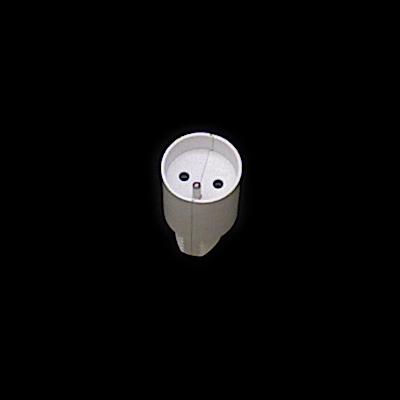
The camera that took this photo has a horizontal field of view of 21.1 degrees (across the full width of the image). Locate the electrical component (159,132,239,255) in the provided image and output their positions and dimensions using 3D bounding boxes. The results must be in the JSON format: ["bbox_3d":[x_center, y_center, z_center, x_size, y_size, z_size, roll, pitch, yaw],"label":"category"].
[{"bbox_3d":[0.000,0.000,0.615,0.043,0.043,0.081,0,-27,1],"label":"electrical component"}]
